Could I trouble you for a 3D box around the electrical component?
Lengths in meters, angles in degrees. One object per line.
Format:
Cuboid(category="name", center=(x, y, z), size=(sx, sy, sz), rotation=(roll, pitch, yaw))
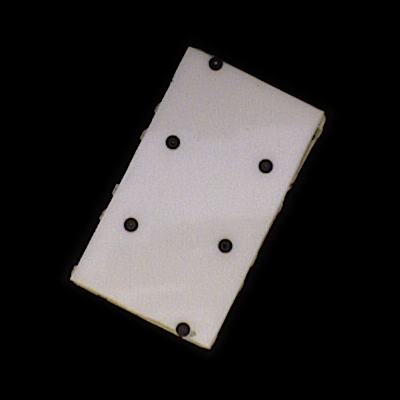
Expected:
Cuboid(category="electrical component", center=(0.000, 0.000, 0.631), size=(0.089, 0.150, 0.061), rotation=(27, -6, 2))
